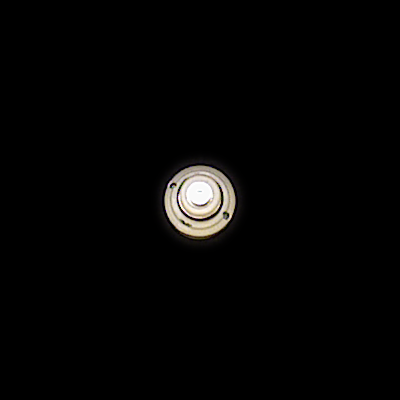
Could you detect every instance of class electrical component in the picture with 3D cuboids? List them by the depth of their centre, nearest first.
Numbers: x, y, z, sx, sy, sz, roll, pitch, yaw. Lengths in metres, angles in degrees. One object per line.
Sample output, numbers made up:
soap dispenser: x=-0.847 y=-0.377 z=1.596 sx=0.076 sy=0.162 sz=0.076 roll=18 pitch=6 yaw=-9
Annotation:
electrical component: x=0.000 y=0.000 z=0.618 sx=0.040 sy=0.040 sz=0.078 roll=0 pitch=-6 yaw=-1
